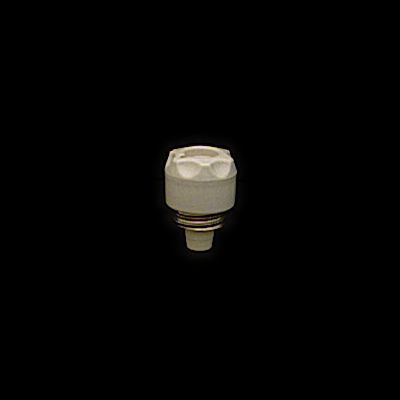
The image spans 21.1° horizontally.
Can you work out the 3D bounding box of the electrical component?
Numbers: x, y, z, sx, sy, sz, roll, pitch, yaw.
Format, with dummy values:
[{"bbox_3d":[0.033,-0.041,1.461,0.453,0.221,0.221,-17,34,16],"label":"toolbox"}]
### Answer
[{"bbox_3d":[0.000,0.000,0.647,0.043,0.063,0.043,1,21,0],"label":"electrical component"}]
